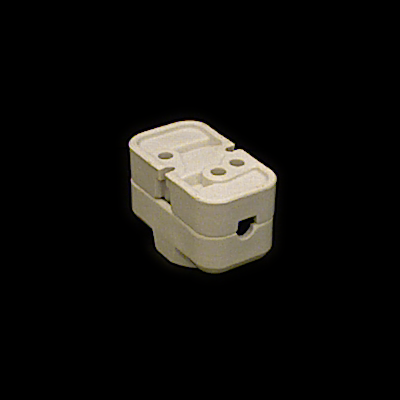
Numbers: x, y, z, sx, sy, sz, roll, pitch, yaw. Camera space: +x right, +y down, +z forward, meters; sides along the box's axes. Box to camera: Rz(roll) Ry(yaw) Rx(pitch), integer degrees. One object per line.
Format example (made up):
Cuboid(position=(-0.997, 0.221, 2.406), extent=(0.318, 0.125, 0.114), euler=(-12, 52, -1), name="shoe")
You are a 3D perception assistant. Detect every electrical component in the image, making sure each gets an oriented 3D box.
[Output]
Cuboid(position=(0.000, 0.000, 0.644), extent=(0.054, 0.060, 0.093), euler=(-20, 37, -29), name="electrical component")
